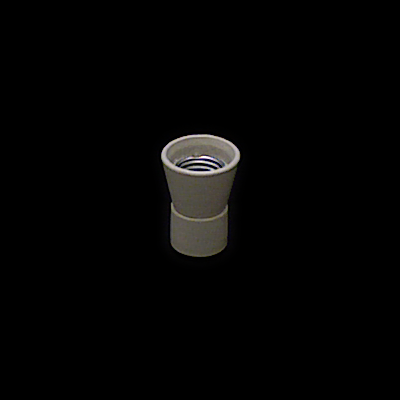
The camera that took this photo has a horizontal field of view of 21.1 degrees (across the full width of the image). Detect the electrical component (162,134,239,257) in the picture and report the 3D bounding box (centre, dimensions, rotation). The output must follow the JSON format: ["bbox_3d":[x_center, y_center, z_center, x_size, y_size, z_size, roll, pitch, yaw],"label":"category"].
[{"bbox_3d":[0.000,0.000,0.631,0.044,0.066,0.044,1,32,-1],"label":"electrical component"}]
